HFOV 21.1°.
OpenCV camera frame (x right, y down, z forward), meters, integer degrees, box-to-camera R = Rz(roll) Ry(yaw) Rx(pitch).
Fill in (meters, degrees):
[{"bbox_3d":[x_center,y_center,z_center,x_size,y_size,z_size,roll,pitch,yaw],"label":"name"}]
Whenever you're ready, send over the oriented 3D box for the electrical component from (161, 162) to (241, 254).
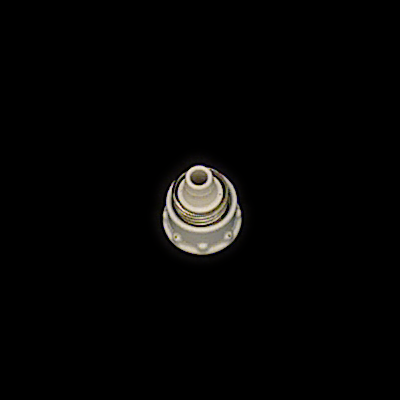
[{"bbox_3d":[0.000,0.000,0.632,0.048,0.048,0.062,0,-27,2],"label":"electrical component"}]
